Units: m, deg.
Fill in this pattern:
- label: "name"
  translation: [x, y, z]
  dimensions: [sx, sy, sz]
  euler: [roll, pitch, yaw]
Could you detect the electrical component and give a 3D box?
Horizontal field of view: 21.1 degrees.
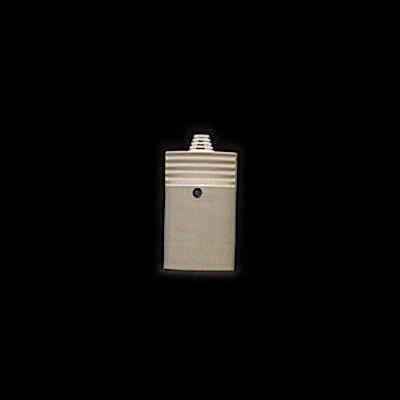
- label: "electrical component"
  translation: [0.000, 0.000, 0.650]
  dimensions: [0.043, 0.081, 0.043]
  euler: [1, 1, 0]
